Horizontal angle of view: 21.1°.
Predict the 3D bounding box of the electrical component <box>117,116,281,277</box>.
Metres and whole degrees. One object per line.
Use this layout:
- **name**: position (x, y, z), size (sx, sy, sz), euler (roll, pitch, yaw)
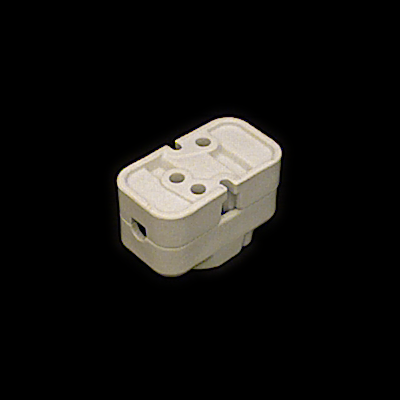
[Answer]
- **electrical component**: position (0.000, 0.000, 0.638), size (0.095, 0.060, 0.053), euler (-31, 51, -30)
